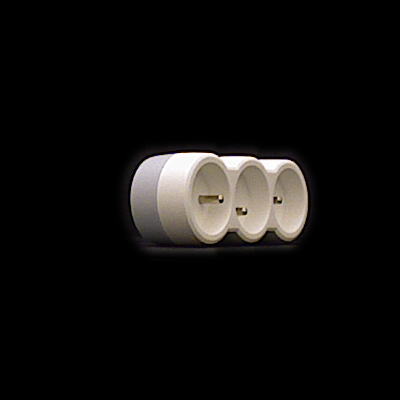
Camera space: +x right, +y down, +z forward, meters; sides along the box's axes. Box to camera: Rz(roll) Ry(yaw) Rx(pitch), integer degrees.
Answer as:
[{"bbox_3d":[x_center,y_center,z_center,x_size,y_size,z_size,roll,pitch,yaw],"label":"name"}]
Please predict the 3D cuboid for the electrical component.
[{"bbox_3d":[0.000,0.000,0.647,0.073,0.052,0.138,-1,0,34],"label":"electrical component"}]
